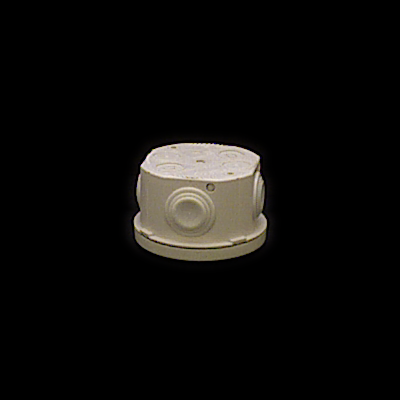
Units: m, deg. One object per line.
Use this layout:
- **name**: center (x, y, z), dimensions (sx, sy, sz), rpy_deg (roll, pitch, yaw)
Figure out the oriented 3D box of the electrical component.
- **electrical component**: center (0.000, 0.000, 0.642), dimensions (0.080, 0.051, 0.079), rpy_deg (1, 20, 0)
